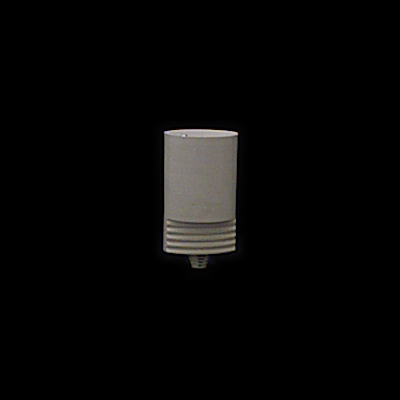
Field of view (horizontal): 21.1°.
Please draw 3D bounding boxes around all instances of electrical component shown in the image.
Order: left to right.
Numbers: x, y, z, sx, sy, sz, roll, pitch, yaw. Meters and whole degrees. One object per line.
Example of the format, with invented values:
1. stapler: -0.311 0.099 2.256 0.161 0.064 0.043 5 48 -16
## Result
1. electrical component: 0.000 0.000 0.639 0.043 0.081 0.043 0 11 0
